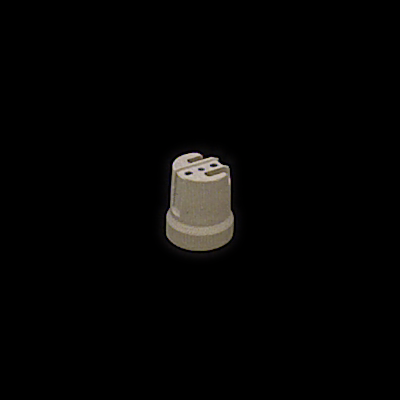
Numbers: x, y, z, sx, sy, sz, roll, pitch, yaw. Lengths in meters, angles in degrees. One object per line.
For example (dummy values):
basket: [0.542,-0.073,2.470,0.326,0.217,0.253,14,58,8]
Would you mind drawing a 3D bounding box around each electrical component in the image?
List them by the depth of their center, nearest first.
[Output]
electrical component: [0.000,0.000,0.638,0.040,0.046,0.040,1,33,0]
